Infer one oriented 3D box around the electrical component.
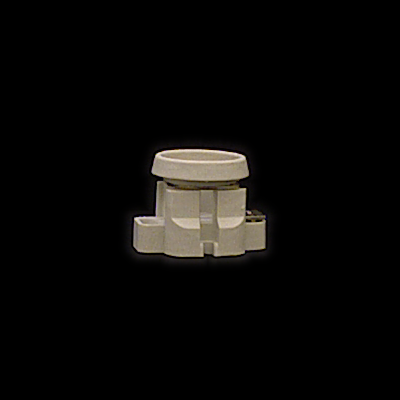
[{"bbox_3d":[0.000,0.000,0.645,0.078,0.057,0.057,-1,11,-13],"label":"electrical component"}]
